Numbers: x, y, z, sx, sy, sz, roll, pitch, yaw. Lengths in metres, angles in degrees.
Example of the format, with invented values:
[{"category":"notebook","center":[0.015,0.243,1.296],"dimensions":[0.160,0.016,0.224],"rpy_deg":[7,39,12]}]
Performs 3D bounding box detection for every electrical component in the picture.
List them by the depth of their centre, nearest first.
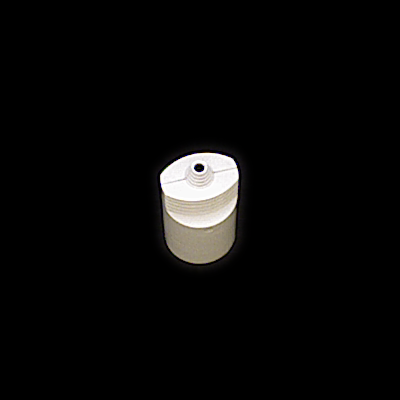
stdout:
[{"category":"electrical component","center":[0.000,0.000,0.617],"dimensions":[0.043,0.043,0.081],"rpy_deg":[0,-27,0]}]
